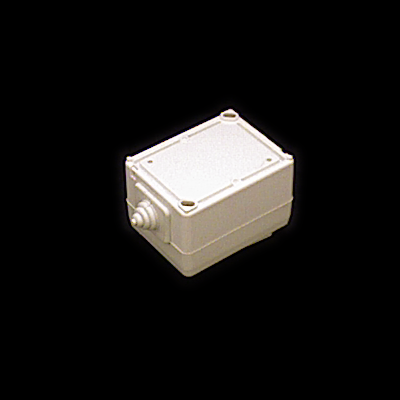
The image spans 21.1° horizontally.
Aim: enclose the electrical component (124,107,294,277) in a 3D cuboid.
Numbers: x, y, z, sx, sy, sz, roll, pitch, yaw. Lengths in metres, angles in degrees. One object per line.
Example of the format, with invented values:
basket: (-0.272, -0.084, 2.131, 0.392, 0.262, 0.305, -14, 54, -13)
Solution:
electrical component: (0.000, 0.000, 0.632, 0.096, 0.061, 0.061, -27, 49, -27)
